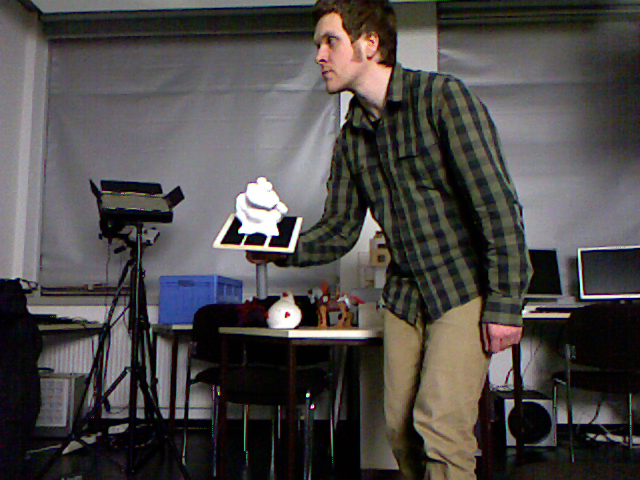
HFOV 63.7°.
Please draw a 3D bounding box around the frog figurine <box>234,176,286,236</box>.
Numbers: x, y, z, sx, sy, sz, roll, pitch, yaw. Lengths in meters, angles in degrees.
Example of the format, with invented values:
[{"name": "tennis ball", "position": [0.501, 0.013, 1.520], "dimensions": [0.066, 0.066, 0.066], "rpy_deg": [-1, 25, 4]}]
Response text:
[{"name": "frog figurine", "position": [-0.157, -0.098, 1.331], "dimensions": [0.138, 0.157, 0.125], "rpy_deg": [14, 28, 21]}]
